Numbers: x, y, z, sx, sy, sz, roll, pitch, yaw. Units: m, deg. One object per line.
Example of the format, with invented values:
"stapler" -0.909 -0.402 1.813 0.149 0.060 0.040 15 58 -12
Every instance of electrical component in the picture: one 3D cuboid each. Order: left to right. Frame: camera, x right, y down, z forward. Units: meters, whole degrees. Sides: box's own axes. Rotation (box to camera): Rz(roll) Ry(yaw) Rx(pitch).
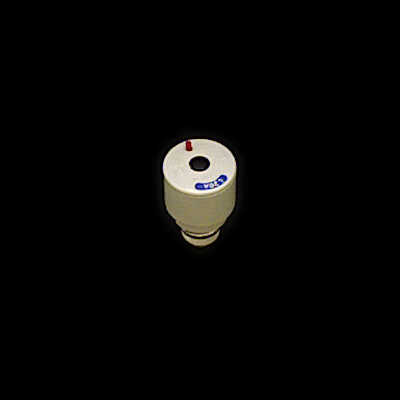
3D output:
"electrical component" 0.000 0.000 0.622 0.040 0.040 0.079 0 -38 0
